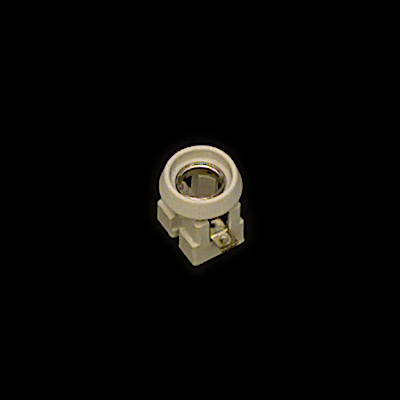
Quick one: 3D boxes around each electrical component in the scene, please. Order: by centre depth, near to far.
[{"bbox_3d":[0.000,0.000,0.638,0.048,0.066,0.056,-30,-31,-18],"label":"electrical component"}]
